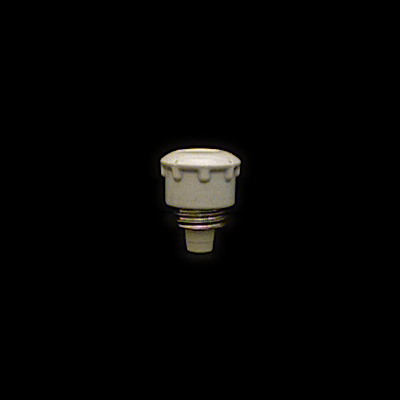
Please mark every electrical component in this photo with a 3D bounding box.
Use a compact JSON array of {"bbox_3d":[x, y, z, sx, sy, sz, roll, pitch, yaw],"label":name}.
[{"bbox_3d":[0.000,0.000,0.649,0.048,0.062,0.048,1,11,0],"label":"electrical component"}]
